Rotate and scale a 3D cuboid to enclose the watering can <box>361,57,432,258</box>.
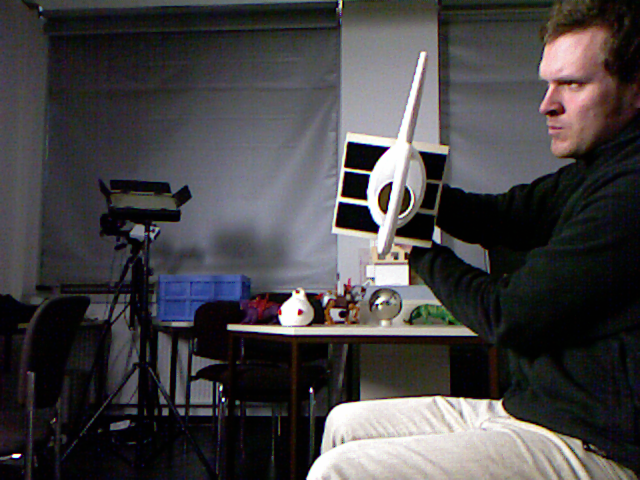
[{"bbox_3d":[0.145,-0.142,0.950,0.104,0.348,0.227,12,5,-2],"label":"watering can"}]
